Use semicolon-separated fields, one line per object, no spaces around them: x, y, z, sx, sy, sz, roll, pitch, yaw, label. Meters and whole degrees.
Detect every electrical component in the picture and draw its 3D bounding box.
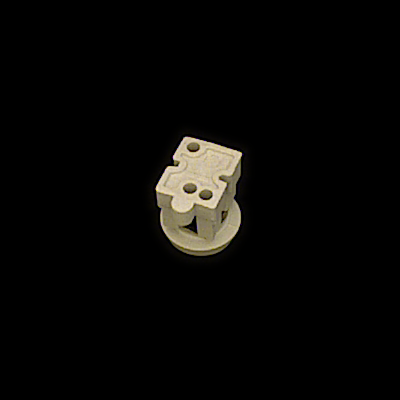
0.000;0.000;0.637;0.048;0.066;0.055;17;-36;14;electrical component
